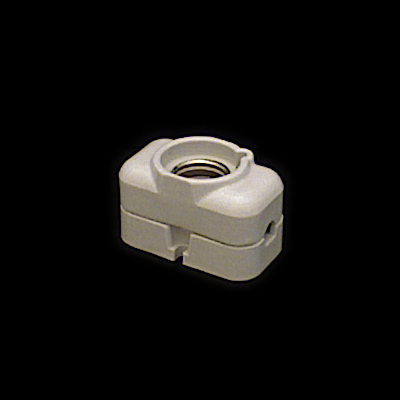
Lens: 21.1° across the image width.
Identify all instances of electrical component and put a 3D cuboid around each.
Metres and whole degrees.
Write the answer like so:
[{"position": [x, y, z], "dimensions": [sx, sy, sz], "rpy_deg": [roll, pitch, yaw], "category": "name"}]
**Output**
[{"position": [0.000, 0.000, 0.642], "dimensions": [0.094, 0.060, 0.053], "rpy_deg": [18, 36, 24], "category": "electrical component"}]
